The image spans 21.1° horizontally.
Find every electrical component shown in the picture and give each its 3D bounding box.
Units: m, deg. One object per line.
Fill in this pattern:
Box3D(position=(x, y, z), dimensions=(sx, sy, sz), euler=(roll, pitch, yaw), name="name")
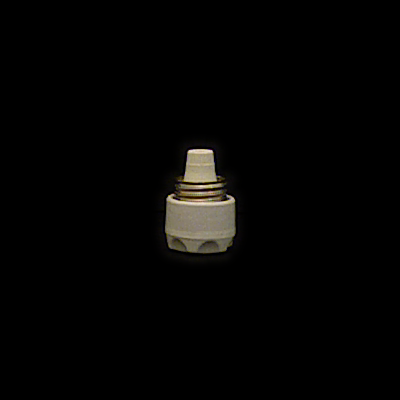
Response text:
Box3D(position=(0.000, 0.000, 0.652), dimensions=(0.043, 0.062, 0.043), euler=(1, 11, 0), name="electrical component")
